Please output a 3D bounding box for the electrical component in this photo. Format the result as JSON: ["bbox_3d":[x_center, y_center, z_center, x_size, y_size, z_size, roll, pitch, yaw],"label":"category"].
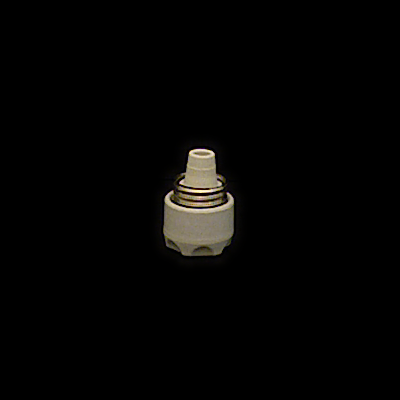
[{"bbox_3d":[0.000,0.000,0.646,0.043,0.063,0.043,2,22,0],"label":"electrical component"}]
